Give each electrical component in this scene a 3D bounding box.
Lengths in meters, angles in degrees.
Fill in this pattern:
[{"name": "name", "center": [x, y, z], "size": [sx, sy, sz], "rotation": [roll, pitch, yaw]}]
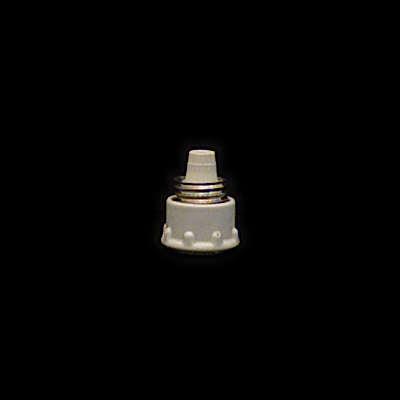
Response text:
[{"name": "electrical component", "center": [0.000, 0.000, 0.652], "size": [0.048, 0.062, 0.048], "rotation": [2, 11, 0]}]
